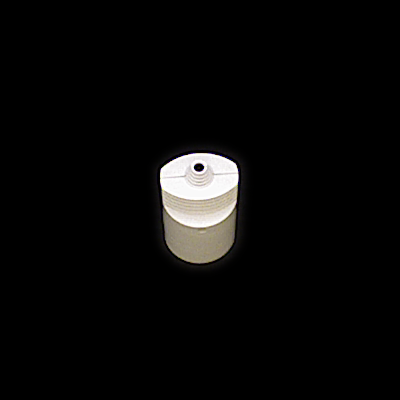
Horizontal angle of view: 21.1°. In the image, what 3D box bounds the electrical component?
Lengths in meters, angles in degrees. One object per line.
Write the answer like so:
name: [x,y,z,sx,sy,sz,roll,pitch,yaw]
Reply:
electrical component: [0.000,0.000,0.617,0.043,0.043,0.081,0,-27,0]
